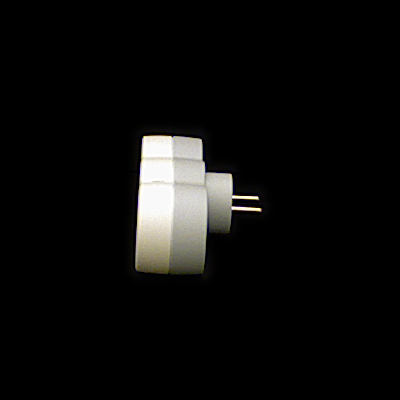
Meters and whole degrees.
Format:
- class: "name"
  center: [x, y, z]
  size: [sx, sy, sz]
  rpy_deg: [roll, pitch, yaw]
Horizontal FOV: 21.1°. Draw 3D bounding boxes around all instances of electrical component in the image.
- class: "electrical component"
  center: [0.000, 0.000, 0.646]
  size: [0.074, 0.053, 0.136]
  rpy_deg: [2, 21, -3]
